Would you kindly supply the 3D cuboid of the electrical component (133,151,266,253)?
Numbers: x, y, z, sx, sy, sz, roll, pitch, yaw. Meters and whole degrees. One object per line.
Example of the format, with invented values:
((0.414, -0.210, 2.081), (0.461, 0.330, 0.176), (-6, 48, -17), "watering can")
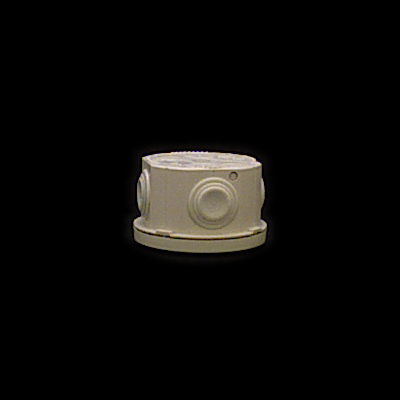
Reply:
((0.000, 0.000, 0.644), (0.080, 0.051, 0.079), (1, 11, 0), "electrical component")
